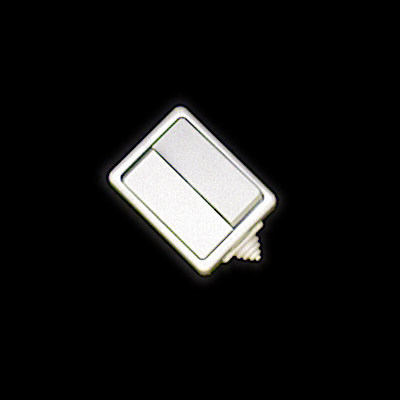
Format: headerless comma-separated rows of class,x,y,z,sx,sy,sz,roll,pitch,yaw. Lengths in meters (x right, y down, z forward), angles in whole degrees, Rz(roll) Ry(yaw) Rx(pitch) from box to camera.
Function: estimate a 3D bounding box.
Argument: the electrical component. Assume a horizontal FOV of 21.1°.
electrical component,0.000,0.000,0.627,0.062,0.096,0.061,-45,-5,-4
